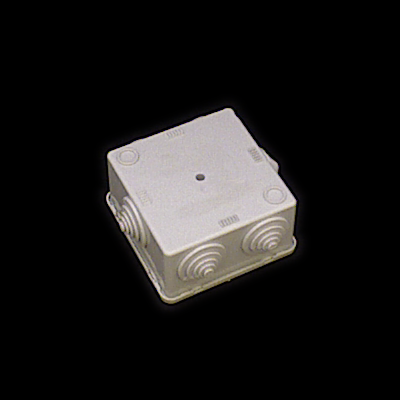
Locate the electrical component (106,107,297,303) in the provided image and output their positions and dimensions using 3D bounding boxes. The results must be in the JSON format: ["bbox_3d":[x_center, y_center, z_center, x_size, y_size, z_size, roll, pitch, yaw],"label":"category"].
[{"bbox_3d":[0.000,0.000,0.633,0.100,0.099,0.049,-22,-34,-16],"label":"electrical component"}]
